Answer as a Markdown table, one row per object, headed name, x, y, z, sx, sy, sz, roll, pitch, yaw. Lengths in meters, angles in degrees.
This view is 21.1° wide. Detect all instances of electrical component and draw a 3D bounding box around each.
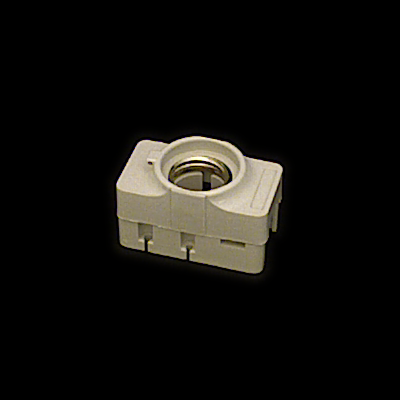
| name | x | y | z | sx | sy | sz | roll | pitch | yaw |
| --- | --- | --- | --- | --- | --- | --- | --- | --- | --- |
| electrical component | 0.000 | 0.000 | 0.640 | 0.089 | 0.056 | 0.050 | 11 | 44 | 10 |
